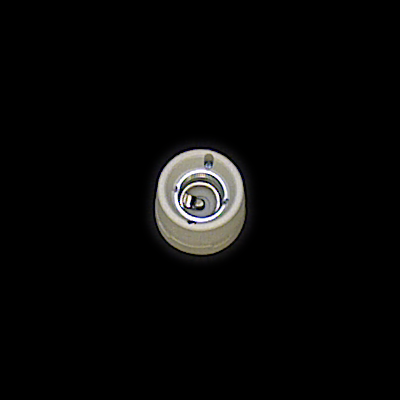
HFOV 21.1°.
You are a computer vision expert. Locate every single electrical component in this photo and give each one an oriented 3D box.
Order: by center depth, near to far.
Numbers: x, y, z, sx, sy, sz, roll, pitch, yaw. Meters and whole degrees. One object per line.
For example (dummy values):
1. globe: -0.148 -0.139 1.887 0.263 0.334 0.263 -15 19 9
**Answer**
1. electrical component: 0.000 0.000 0.633 0.055 0.056 0.047 0 -18 -1
